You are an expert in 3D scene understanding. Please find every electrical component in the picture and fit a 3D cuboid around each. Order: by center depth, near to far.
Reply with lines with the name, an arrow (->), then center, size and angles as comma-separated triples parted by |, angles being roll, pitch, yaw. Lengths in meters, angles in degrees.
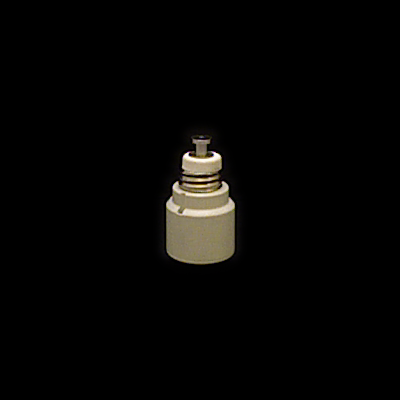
electrical component -> 0.000, 0.000, 0.637 | 0.040, 0.079, 0.039 | 1, 22, 0
